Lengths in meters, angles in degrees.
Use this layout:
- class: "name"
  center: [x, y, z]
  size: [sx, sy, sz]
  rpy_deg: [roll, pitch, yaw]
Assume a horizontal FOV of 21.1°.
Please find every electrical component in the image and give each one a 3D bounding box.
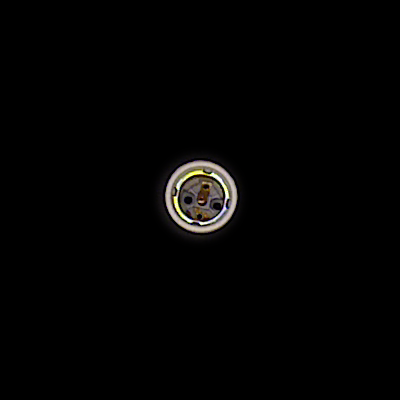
- class: "electrical component"
  center: [0.000, 0.000, 0.627]
  size: [0.040, 0.040, 0.046]
  rpy_deg: [0, -6, 0]
